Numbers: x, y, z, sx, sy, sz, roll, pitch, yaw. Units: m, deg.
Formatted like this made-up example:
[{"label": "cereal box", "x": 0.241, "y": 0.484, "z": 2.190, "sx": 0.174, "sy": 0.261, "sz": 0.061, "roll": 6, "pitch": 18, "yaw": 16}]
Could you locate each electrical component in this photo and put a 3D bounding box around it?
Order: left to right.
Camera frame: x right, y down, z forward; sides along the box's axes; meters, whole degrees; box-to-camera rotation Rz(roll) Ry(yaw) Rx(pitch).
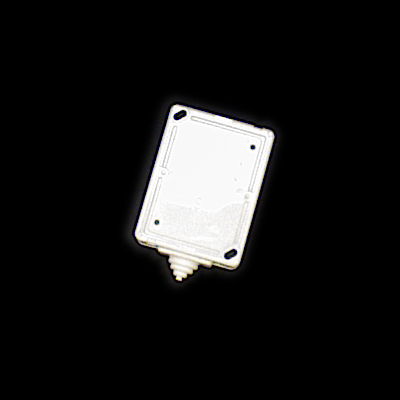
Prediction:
[{"label": "electrical component", "x": 0.000, "y": 0.000, "z": 0.625, "sx": 0.062, "sy": 0.097, "sz": 0.060, "roll": 16, "pitch": -7, "yaw": 2}]
